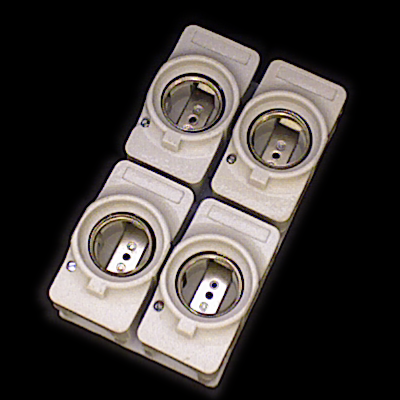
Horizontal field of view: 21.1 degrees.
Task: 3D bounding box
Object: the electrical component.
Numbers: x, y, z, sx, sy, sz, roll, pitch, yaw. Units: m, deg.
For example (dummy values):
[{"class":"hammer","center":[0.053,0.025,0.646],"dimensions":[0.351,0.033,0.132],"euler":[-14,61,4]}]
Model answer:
[{"class":"electrical component","center":[0.000,0.000,0.625],"dimensions":[0.105,0.187,0.060],"euler":[24,-15,7]}]
